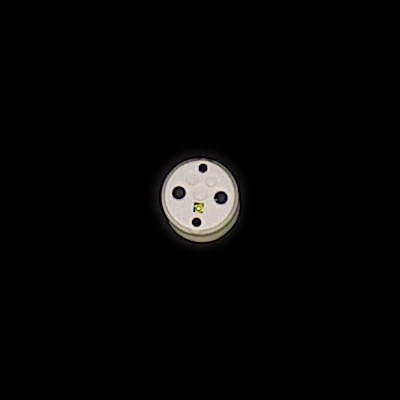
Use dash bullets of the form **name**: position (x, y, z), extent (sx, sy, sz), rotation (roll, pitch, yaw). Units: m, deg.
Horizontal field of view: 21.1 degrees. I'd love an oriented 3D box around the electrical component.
- **electrical component**: position (0.000, 0.000, 0.630), extent (0.045, 0.045, 0.055), rotation (0, -7, 1)
